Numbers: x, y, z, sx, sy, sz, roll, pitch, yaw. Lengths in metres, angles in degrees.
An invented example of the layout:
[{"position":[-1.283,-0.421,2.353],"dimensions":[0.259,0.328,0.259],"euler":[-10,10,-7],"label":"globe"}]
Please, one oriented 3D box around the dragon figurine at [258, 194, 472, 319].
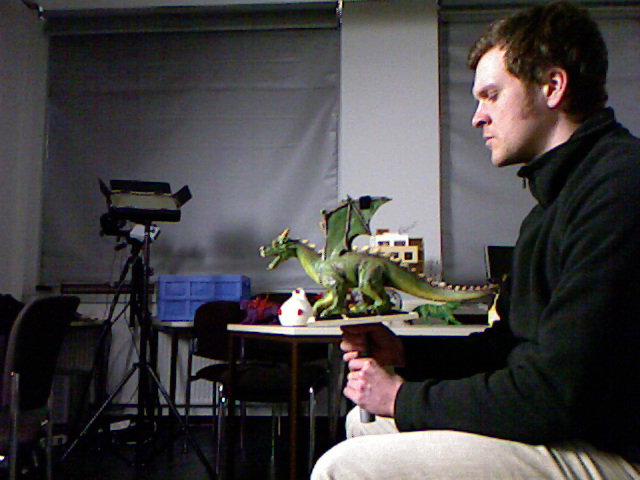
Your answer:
[{"position":[0.078,0.027,1.033],"dimensions":[0.410,0.244,0.122],"euler":[-8,-6,11],"label":"dragon figurine"}]
